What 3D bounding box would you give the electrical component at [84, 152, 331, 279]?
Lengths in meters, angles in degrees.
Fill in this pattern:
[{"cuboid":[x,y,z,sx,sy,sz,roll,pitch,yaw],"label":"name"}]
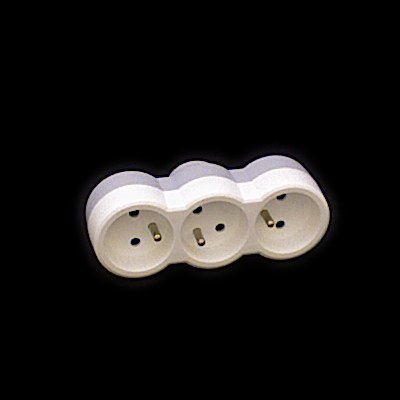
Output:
[{"cuboid":[0.000,0.000,0.635,0.138,0.053,0.073,-7,30,-11],"label":"electrical component"}]
